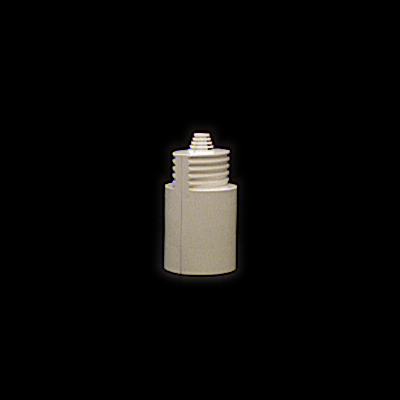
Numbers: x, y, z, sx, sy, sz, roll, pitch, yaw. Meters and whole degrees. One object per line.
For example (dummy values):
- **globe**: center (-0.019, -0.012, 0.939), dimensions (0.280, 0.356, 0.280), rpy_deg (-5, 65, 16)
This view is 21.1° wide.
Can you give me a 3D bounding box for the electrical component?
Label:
- **electrical component**: center (0.000, 0.000, 0.643), dimensions (0.043, 0.081, 0.043), rpy_deg (1, 11, 0)
